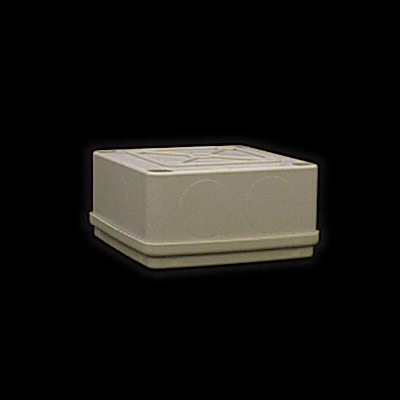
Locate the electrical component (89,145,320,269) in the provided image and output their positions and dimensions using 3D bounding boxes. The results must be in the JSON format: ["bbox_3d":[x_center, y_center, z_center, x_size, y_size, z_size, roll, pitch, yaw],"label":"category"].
[{"bbox_3d":[0.000,0.000,0.644,0.109,0.056,0.107,-4,11,-24],"label":"electrical component"}]
